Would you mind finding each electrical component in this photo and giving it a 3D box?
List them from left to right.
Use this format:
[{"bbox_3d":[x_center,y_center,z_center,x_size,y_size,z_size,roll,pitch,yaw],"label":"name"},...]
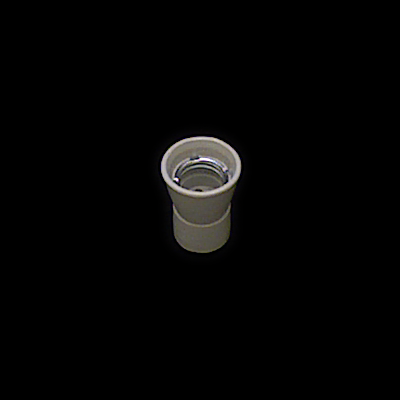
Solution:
[{"bbox_3d":[0.000,0.000,0.628,0.044,0.044,0.065,0,-39,1],"label":"electrical component"}]
